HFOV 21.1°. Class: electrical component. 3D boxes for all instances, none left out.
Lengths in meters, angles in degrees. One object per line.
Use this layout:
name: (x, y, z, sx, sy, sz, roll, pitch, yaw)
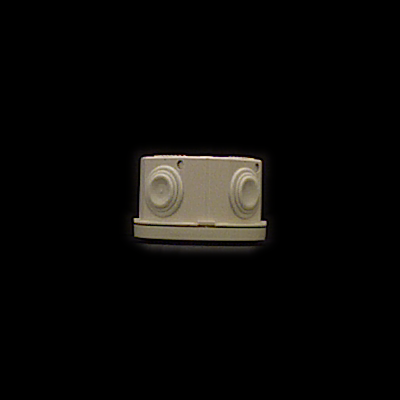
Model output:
electrical component: (0.000, 0.000, 0.649, 0.080, 0.051, 0.080, 2, 1, 0)
